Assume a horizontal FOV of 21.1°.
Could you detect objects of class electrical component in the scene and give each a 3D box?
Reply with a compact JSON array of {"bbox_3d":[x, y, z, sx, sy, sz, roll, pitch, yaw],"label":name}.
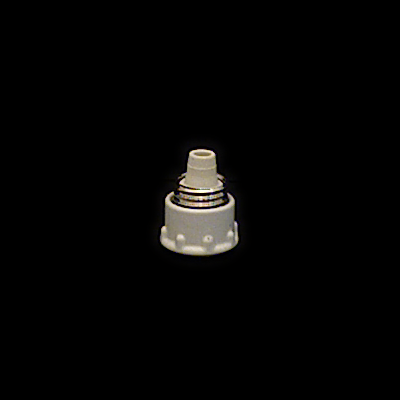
[{"bbox_3d":[0.000,0.000,0.646,0.048,0.063,0.047,2,23,0],"label":"electrical component"}]
